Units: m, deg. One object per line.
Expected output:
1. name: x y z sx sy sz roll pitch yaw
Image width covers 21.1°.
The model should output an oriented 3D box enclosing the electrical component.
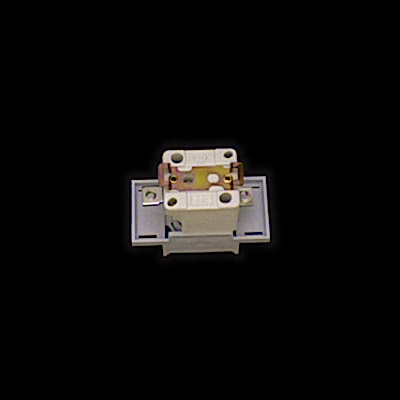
1. electrical component: 0.000 0.000 0.626 0.081 0.042 0.063 -2 -27 -1
